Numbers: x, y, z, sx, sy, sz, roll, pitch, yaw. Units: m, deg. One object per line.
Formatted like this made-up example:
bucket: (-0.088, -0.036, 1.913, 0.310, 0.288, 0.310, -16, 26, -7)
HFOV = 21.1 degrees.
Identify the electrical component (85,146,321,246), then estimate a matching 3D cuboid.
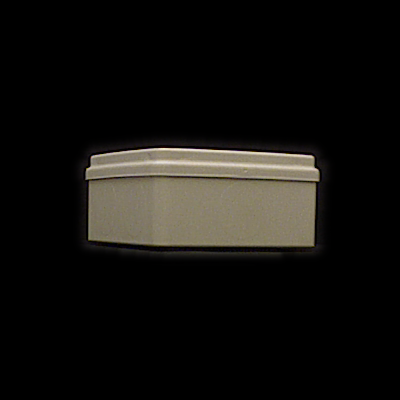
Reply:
electrical component: (0.000, 0.000, 0.650, 0.109, 0.056, 0.108, 1, 0, -29)
